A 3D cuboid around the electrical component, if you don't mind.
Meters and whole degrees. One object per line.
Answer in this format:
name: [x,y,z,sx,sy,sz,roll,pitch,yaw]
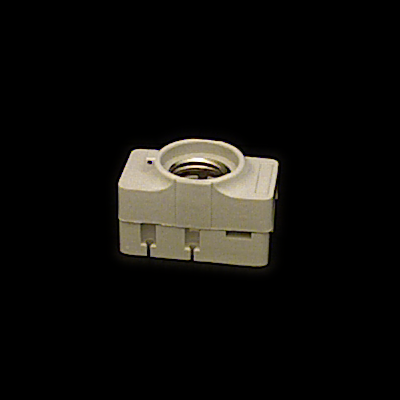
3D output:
electrical component: [0.000,0.000,0.643,0.089,0.056,0.049,5,32,5]
